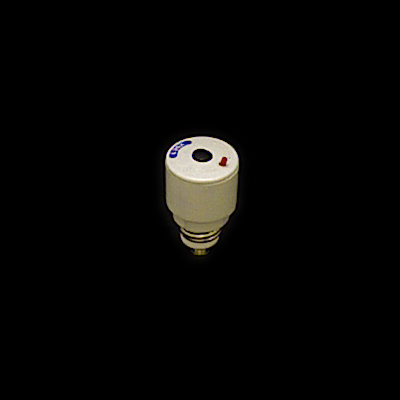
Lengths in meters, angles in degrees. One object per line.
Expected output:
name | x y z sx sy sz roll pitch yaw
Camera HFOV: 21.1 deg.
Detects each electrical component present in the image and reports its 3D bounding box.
electrical component | 0.000 0.000 0.623 0.040 0.079 0.039 1 42 -1
